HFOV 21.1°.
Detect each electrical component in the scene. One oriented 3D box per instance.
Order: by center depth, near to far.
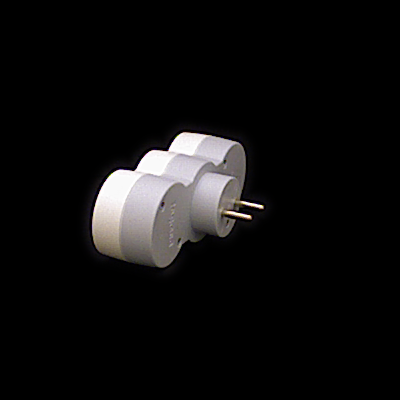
[{"bbox_3d":[0.000,0.000,0.643,0.073,0.053,0.137,12,22,22],"label":"electrical component"}]
